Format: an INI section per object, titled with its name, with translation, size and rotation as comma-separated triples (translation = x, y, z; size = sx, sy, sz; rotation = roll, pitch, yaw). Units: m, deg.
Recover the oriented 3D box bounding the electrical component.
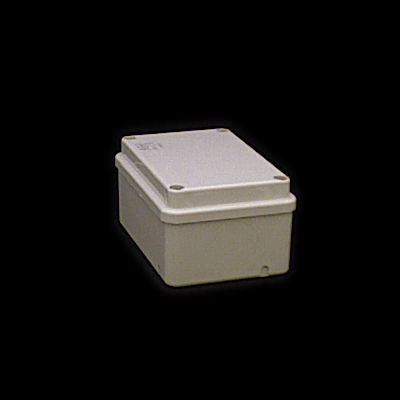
[electrical component]
translation = 0.000, 0.000, 0.638
size = 0.078, 0.058, 0.111
rotation = -6, 22, -18
